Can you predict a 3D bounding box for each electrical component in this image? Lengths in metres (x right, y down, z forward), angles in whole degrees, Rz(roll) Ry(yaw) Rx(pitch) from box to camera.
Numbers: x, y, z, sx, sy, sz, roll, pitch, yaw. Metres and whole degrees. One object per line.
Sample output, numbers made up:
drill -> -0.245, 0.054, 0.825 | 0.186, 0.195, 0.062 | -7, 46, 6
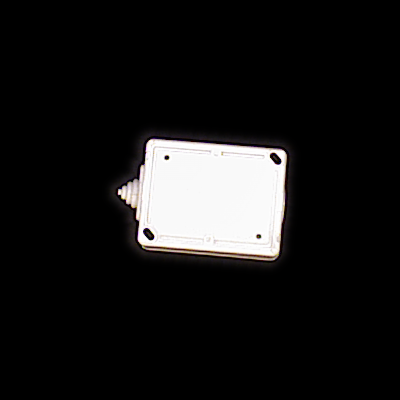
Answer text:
electrical component -> 0.000, 0.000, 0.630 | 0.096, 0.062, 0.061 | 5, -7, 2
